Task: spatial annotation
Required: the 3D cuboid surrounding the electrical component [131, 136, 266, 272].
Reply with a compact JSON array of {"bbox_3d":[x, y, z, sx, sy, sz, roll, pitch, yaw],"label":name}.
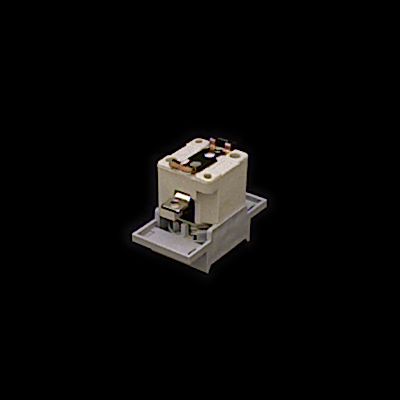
[{"bbox_3d":[0.000,0.000,0.634,0.042,0.064,0.080,21,37,29],"label":"electrical component"}]
